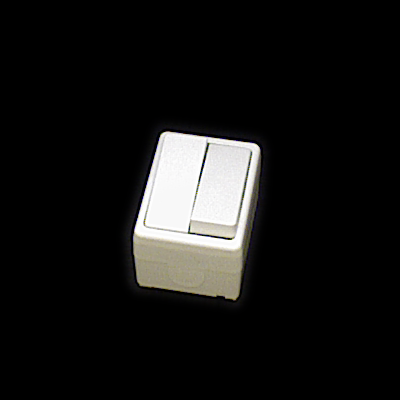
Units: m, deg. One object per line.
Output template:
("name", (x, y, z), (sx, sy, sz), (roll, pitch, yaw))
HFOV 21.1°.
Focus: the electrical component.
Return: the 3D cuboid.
("electrical component", (0.000, 0.000, 0.630), (0.061, 0.096, 0.061), (9, -37, 6))
